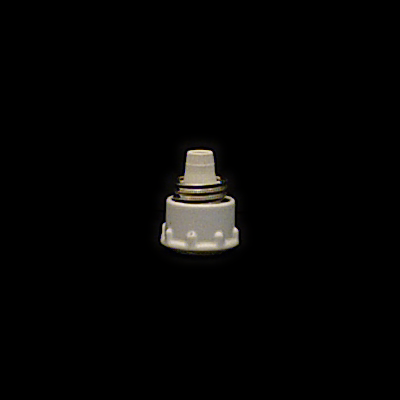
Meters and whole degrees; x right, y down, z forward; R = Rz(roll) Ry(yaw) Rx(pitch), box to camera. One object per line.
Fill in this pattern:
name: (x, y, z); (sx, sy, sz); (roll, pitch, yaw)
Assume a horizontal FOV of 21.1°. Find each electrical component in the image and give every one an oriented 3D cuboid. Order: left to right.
electrical component: (0.000, 0.000, 0.648); (0.048, 0.062, 0.048); (0, 13, 1)
